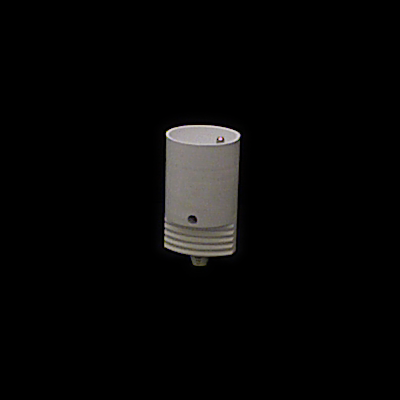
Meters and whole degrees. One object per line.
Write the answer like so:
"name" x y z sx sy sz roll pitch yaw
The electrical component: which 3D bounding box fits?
"electrical component" 0.000 0.000 0.636 0.043 0.082 0.042 1 22 0
